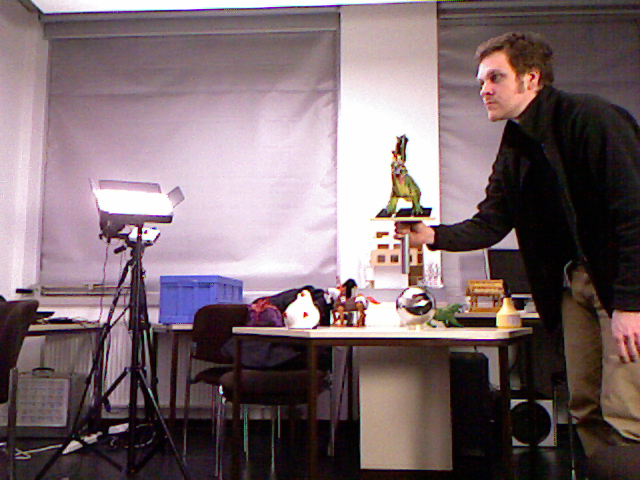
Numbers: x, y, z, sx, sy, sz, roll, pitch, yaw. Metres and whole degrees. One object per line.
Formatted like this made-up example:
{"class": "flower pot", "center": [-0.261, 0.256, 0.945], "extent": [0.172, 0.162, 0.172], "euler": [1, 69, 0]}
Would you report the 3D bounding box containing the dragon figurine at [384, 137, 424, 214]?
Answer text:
{"class": "dragon figurine", "center": [0.284, -0.217, 1.697], "extent": [0.122, 0.240, 0.415], "euler": [2, 13, 14]}
